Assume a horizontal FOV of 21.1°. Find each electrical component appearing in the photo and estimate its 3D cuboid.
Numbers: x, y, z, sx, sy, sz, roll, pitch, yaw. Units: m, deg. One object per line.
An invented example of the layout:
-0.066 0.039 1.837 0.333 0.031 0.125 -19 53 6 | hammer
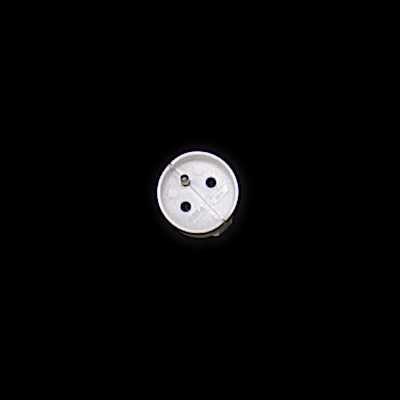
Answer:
0.000 0.000 0.615 0.043 0.043 0.080 0 -7 0 | electrical component
